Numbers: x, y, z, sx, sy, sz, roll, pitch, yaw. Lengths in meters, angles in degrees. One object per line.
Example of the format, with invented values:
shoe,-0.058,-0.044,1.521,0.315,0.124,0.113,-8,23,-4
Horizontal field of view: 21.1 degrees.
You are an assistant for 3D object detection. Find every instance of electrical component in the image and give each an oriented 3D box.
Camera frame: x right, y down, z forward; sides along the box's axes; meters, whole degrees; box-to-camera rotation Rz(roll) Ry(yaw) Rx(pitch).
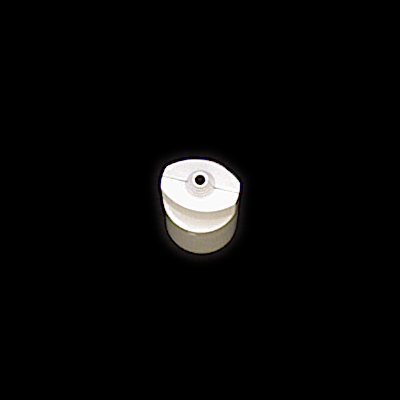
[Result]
electrical component,0.000,0.000,0.616,0.043,0.043,0.080,0,-17,1
